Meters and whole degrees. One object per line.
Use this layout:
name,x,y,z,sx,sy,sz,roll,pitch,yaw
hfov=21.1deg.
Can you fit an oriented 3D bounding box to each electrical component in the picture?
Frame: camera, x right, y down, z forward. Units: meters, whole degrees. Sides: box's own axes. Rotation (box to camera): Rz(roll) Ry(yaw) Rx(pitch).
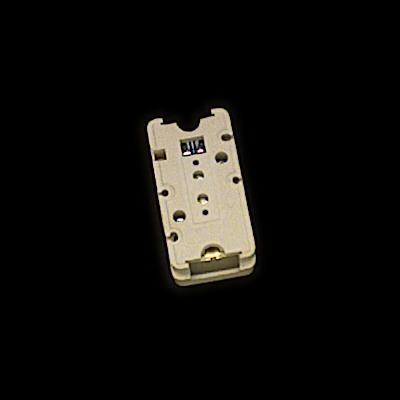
electrical component,0.000,0.000,0.636,0.050,0.090,0.055,-10,-17,-2
